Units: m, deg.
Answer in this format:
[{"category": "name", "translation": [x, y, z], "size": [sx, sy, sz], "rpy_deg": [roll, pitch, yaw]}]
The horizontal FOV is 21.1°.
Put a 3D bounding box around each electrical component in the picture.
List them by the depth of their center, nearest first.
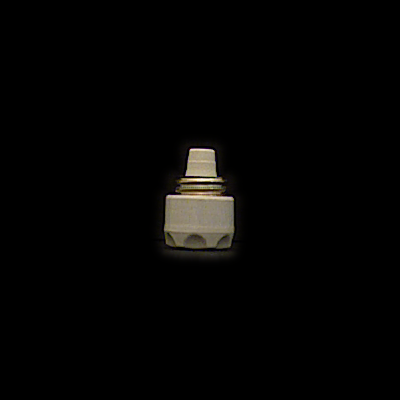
[{"category": "electrical component", "translation": [0.000, 0.000, 0.657], "size": [0.043, 0.062, 0.043], "rpy_deg": [2, 1, 0]}]
